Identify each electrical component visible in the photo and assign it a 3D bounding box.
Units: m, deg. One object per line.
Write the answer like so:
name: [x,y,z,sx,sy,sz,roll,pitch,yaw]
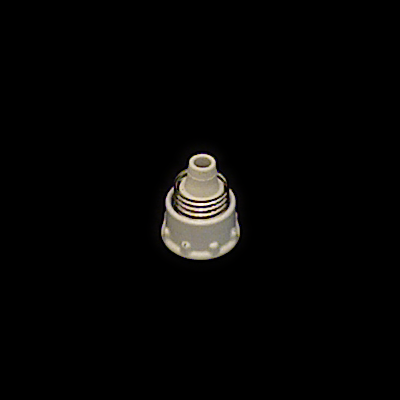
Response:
electrical component: [0.000,0.000,0.639,0.048,0.062,0.047,1,42,-1]
